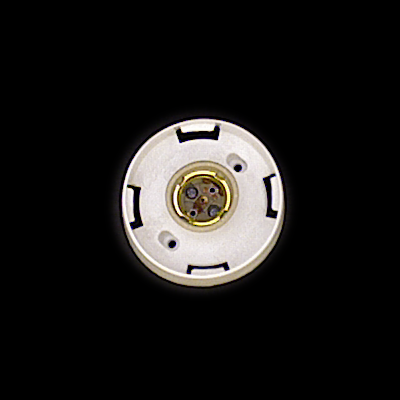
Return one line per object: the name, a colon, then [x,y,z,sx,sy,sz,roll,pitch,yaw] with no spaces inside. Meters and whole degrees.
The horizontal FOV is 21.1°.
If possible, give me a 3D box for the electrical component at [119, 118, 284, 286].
electrical component: [0.000,0.000,0.625,0.099,0.099,0.064,0,-7,1]
